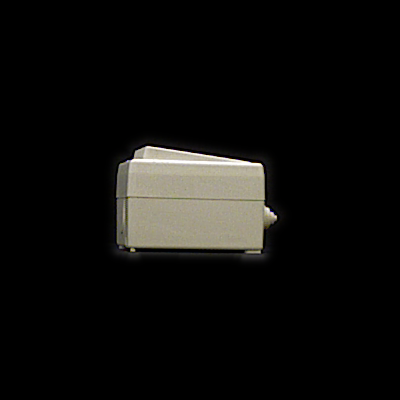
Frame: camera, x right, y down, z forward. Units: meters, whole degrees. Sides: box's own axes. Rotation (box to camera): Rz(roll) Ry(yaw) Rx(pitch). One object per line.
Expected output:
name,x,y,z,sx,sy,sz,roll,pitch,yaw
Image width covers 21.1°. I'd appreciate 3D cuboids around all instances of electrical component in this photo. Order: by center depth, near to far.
electrical component,0.000,0.000,0.650,0.096,0.061,0.061,1,0,-11
